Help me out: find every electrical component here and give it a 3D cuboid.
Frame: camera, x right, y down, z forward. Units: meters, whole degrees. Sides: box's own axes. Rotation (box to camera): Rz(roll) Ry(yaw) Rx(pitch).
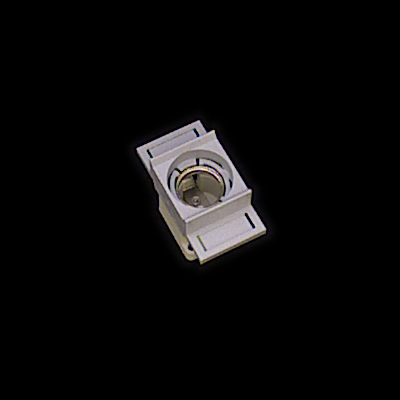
[{"bbox_3d":[0.000,0.000,0.625,0.042,0.080,0.064,-25,-24,-11],"label":"electrical component"}]
